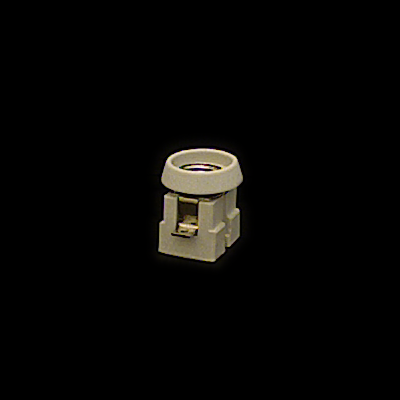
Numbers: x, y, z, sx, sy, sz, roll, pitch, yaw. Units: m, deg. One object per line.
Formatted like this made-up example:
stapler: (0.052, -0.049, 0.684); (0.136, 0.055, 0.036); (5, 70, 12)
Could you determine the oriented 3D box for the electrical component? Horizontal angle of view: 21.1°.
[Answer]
electrical component: (0.000, 0.000, 0.645); (0.048, 0.056, 0.066); (7, 23, 19)
